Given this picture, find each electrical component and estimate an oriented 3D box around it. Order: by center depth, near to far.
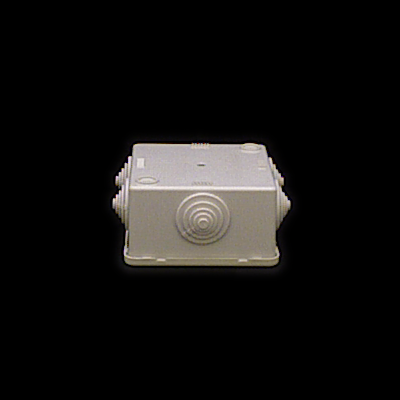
[{"bbox_3d":[0.000,0.000,0.642,0.100,0.049,0.098,1,21,-2],"label":"electrical component"}]
